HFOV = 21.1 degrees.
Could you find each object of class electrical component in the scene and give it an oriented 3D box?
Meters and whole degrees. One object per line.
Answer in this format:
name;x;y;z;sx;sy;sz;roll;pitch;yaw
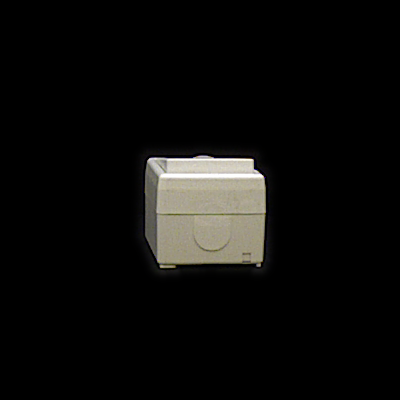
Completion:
electrical component;0.000;0.000;0.646;0.062;0.061;0.095;0;10;-9
